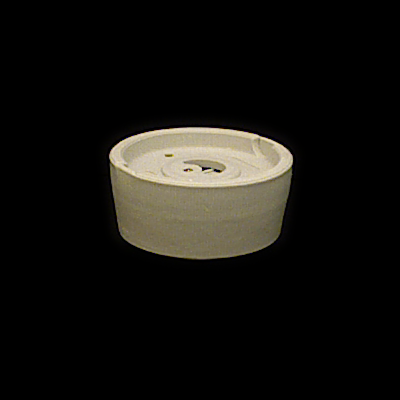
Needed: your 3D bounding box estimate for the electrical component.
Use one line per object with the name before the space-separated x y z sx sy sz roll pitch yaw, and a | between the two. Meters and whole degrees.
electrical component | 0.000 0.000 0.642 0.108 0.061 0.106 2 21 0
